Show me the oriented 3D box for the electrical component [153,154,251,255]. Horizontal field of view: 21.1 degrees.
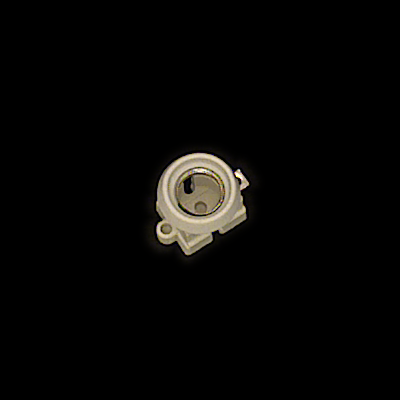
[{"bbox_3d":[0.000,0.000,0.638,0.067,0.048,0.055,-33,-12,-9],"label":"electrical component"}]
